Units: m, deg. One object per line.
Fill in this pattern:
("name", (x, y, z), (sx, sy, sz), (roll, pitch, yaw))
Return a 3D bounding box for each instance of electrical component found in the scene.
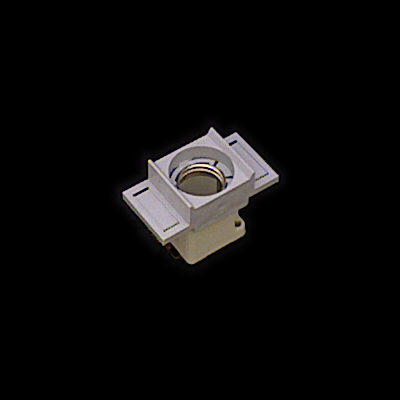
("electrical component", (0.000, 0.000, 0.624), (0.081, 0.042, 0.064), (-29, -32, -21))
